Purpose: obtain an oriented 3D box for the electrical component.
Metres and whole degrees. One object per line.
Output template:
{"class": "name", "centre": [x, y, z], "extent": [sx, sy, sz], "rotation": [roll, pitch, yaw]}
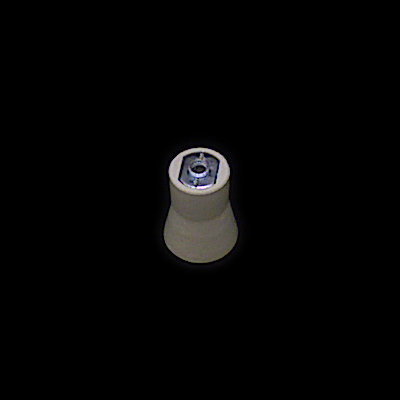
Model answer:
{"class": "electrical component", "centre": [0.000, 0.000, 0.627], "extent": [0.044, 0.044, 0.065], "rotation": [0, -38, 1]}
